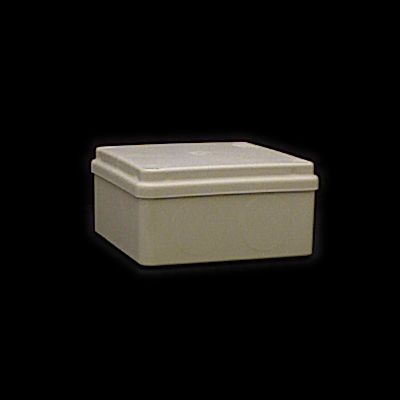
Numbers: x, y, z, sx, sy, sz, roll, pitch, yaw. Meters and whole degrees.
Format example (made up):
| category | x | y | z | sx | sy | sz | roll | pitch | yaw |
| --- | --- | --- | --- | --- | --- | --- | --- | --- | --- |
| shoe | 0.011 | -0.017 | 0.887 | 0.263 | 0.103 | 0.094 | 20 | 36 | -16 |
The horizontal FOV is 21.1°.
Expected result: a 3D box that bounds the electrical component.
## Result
| category | x | y | z | sx | sy | sz | roll | pitch | yaw |
| --- | --- | --- | --- | --- | --- | --- | --- | --- | --- |
| electrical component | 0.000 | 0.000 | 0.643 | 0.109 | 0.056 | 0.107 | -3 | 11 | -20 |
